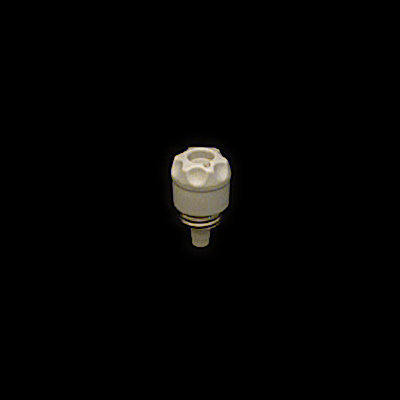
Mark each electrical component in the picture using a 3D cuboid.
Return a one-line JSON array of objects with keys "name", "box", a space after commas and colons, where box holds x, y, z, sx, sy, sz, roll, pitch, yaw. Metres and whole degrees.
[{"name": "electrical component", "box": [0.000, 0.000, 0.639, 0.035, 0.062, 0.035, 1, 32, 0]}]
